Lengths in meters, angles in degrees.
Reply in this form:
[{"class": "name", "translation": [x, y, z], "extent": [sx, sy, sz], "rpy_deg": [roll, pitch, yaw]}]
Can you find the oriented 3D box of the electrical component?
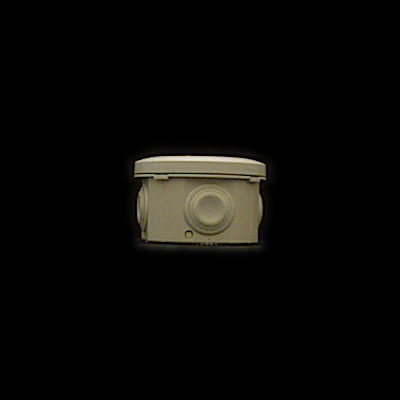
[{"class": "electrical component", "translation": [0.000, 0.000, 0.652], "extent": [0.080, 0.051, 0.080], "rpy_deg": [1, 0, 0]}]
